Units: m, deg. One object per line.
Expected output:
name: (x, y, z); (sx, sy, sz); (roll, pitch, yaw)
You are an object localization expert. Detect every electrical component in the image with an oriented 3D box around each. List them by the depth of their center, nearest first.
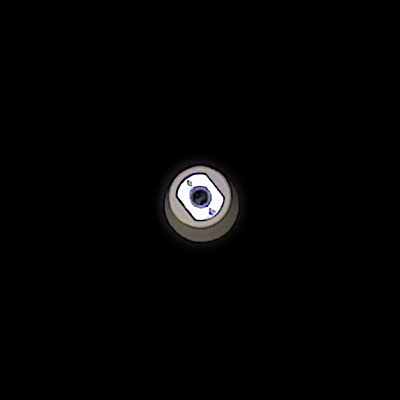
electrical component: (0.000, 0.000, 0.626); (0.044, 0.044, 0.065); (0, -5, 1)
